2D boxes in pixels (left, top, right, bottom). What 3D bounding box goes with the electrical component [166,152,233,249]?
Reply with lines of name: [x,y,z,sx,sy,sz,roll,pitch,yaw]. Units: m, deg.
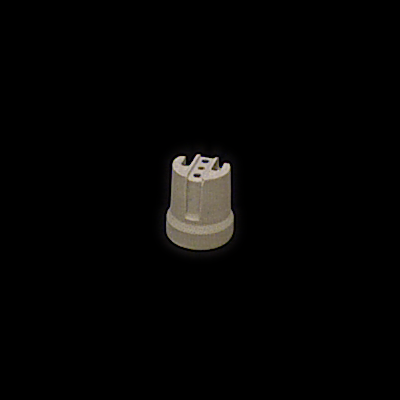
electrical component: [0.000,0.000,0.639,0.040,0.046,0.040,1,32,-1]
